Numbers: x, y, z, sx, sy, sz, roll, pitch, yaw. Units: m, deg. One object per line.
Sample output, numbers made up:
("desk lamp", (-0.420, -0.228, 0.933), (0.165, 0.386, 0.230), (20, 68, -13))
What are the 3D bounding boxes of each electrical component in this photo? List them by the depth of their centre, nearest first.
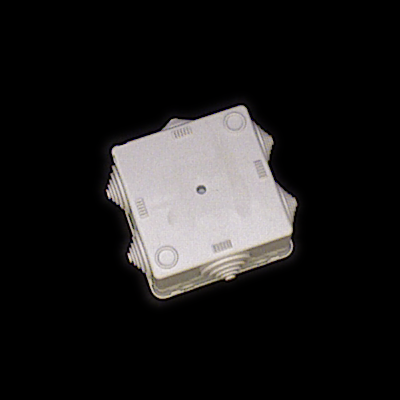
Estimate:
("electrical component", (0.000, 0.000, 0.632), (0.100, 0.100, 0.048), (-18, -16, -5))
